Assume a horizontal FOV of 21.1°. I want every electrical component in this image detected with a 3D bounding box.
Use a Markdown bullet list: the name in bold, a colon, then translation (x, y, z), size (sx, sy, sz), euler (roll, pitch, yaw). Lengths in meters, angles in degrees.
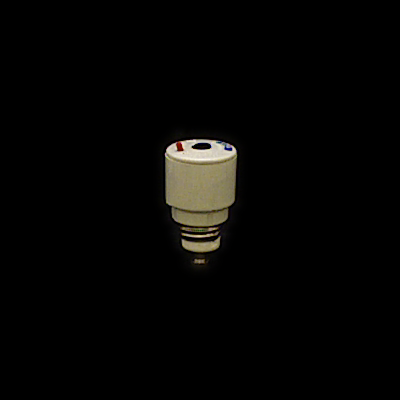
- **electrical component**: translation (0.000, 0.000, 0.635), size (0.040, 0.079, 0.039), euler (1, 22, 0)
